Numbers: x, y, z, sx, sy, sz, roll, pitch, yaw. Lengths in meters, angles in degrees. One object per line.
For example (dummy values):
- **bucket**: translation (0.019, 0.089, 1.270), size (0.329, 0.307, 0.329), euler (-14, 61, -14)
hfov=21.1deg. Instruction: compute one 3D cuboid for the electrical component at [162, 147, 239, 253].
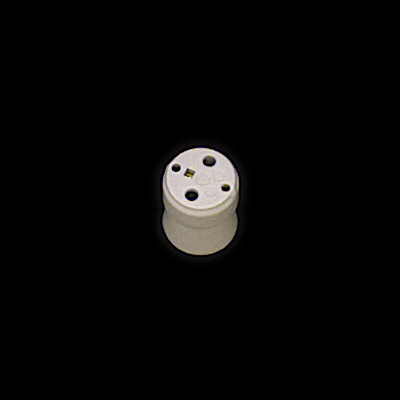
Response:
- **electrical component**: translation (0.000, 0.000, 0.629), size (0.045, 0.045, 0.055), euler (0, -27, -1)
